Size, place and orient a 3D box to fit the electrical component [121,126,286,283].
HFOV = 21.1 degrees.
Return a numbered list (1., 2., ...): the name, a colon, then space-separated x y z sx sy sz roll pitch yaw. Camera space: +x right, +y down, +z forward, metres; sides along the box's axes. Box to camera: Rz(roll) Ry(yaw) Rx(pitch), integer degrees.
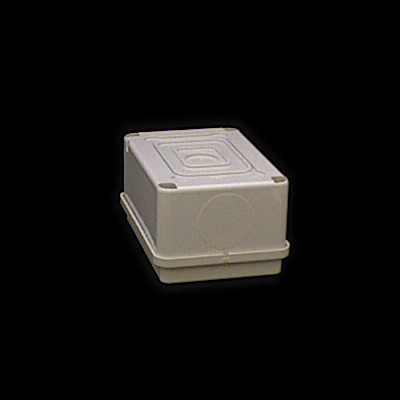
1. electrical component: 0.000 0.000 0.639 0.078 0.058 0.111 -4 22 -14
